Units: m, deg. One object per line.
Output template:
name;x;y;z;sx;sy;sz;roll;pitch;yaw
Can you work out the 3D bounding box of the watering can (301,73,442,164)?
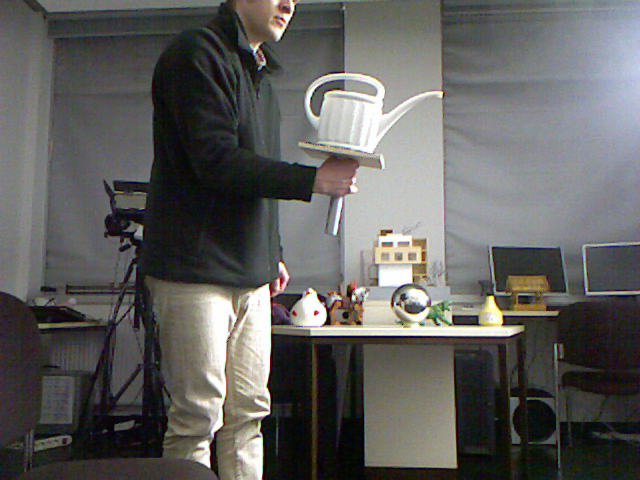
watering can;0.118;-0.302;1.302;0.349;0.223;0.105;9;10;8
